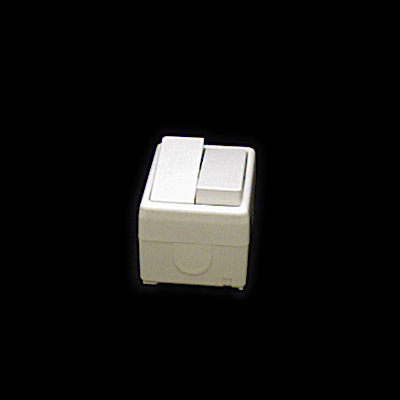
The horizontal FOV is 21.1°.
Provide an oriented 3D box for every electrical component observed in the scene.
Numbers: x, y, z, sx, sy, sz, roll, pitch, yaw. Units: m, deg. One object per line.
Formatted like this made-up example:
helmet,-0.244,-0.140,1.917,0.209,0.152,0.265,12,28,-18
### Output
electrical component,0.000,0.000,0.637,0.062,0.061,0.095,4,31,5
